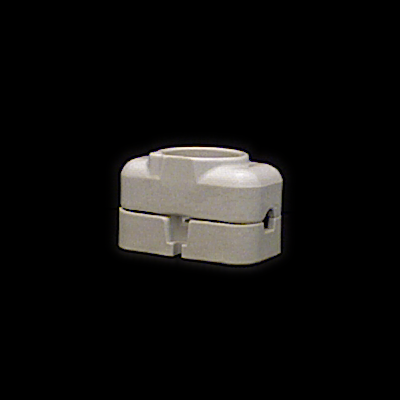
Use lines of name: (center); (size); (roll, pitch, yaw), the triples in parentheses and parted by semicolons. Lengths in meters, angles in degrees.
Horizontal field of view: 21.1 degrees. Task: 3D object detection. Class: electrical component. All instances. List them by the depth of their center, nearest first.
electrical component: (0.000, 0.000, 0.649); (0.094, 0.060, 0.054); (7, 13, 28)
